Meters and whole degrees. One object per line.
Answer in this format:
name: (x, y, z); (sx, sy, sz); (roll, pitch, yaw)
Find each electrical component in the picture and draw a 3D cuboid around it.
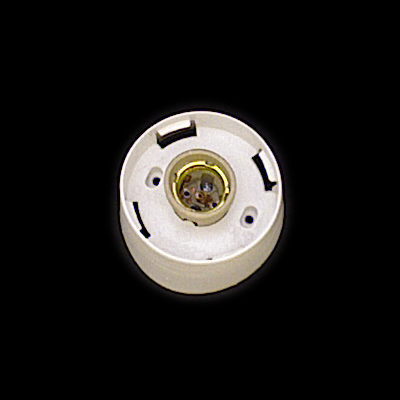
electrical component: (0.000, 0.000, 0.625); (0.099, 0.099, 0.064); (0, -17, 0)
